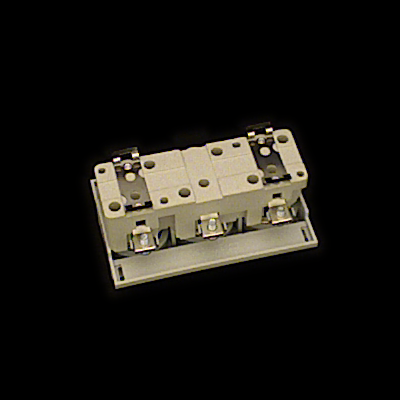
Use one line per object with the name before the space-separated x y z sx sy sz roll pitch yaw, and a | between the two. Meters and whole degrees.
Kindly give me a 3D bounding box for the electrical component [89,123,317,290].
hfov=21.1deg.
electrical component | 0.000 0.000 0.637 0.122 0.078 0.063 -11 -37 -9
